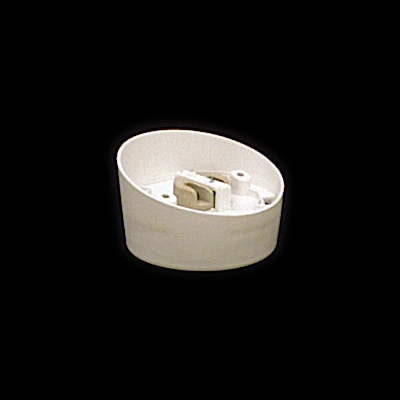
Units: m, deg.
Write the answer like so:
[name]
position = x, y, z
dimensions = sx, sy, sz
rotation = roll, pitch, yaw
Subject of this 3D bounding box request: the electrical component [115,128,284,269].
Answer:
[electrical component]
position = 0.000, 0.000, 0.638
dimensions = 0.099, 0.065, 0.097
rotation = 0, 20, 0
